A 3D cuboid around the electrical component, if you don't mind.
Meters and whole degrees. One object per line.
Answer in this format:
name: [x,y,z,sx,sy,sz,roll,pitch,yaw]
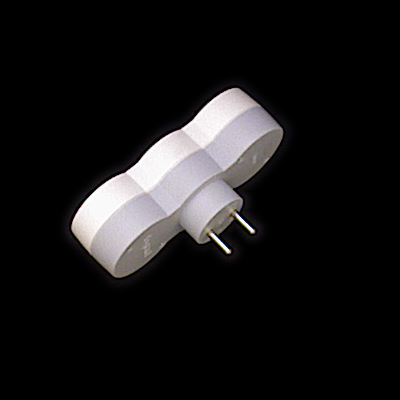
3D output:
electrical component: [0.000,0.000,0.632,0.138,0.073,0.052,-39,-18,-19]
